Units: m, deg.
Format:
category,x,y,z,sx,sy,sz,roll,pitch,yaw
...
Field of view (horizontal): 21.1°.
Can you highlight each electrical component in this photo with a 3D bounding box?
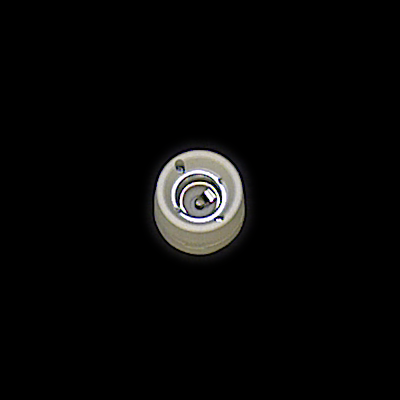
category,x,y,z,sx,sy,sz,roll,pitch,yaw
electrical component,0.000,0.000,0.632,0.055,0.056,0.047,0,-16,0
